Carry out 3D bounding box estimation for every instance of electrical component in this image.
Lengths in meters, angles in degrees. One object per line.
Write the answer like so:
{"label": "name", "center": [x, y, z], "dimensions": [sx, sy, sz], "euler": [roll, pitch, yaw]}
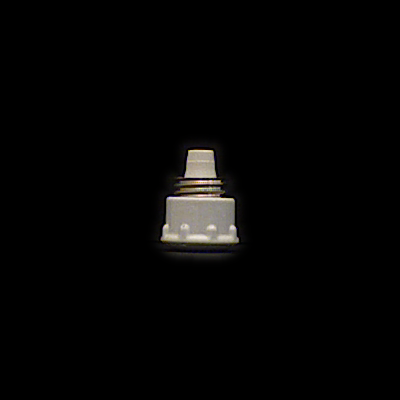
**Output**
{"label": "electrical component", "center": [0.000, 0.000, 0.657], "dimensions": [0.048, 0.062, 0.048], "euler": [1, 1, 1]}
